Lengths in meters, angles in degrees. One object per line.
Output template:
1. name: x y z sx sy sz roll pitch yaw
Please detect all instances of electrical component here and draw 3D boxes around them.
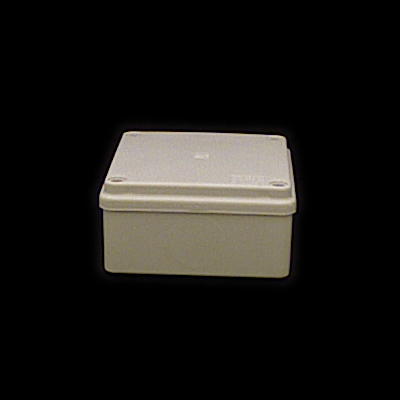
1. electrical component: 0.000 0.000 0.641 0.109 0.057 0.107 2 20 2
